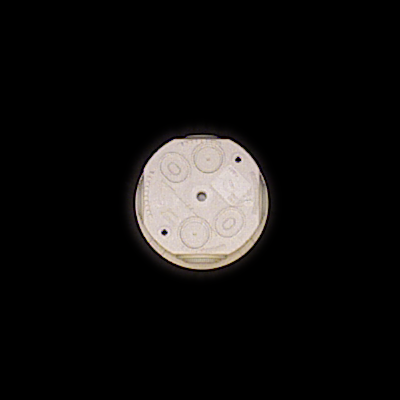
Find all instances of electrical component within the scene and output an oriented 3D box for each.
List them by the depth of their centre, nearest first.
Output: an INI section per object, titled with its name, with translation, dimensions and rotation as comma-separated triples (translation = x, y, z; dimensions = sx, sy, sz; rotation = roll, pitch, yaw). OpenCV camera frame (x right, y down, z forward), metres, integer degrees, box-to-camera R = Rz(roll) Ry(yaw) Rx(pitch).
[electrical component]
translation = 0.000, 0.000, 0.633
dimensions = 0.080, 0.080, 0.050
rotation = 0, -7, 0
